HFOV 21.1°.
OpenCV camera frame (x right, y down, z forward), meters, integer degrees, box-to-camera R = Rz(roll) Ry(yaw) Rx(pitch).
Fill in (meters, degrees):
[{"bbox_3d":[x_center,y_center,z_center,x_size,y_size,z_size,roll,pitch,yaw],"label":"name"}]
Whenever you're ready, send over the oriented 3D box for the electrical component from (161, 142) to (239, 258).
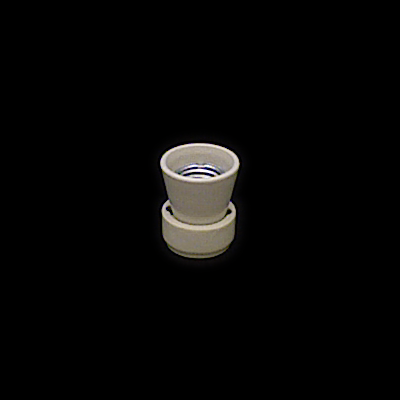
[{"bbox_3d":[0.000,0.000,0.634,0.045,0.056,0.044,0,32,0],"label":"electrical component"}]
